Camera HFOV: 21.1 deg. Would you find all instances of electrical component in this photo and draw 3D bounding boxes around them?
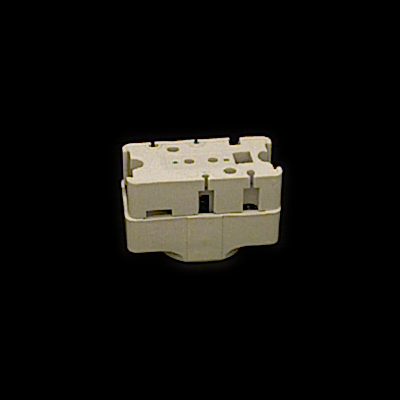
[{"bbox_3d":[0.000,0.000,0.643,0.090,0.056,0.049,-3,32,-7],"label":"electrical component"}]
